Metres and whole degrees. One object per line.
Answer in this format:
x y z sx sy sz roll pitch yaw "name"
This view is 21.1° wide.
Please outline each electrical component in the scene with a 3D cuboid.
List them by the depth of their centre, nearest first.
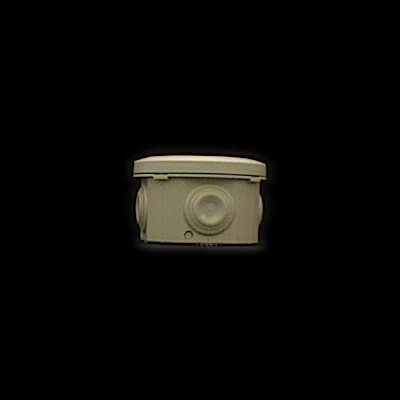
0.000 0.000 0.647 0.080 0.051 0.080 1 0 0 "electrical component"
